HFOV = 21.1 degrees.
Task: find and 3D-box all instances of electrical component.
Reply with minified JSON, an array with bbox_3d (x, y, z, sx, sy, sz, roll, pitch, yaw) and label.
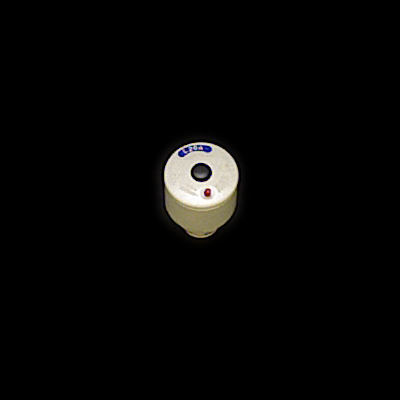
[{"bbox_3d":[0.000,0.000,0.616,0.040,0.040,0.078,0,-27,0],"label":"electrical component"}]
